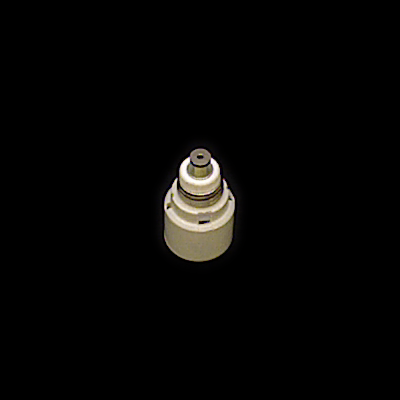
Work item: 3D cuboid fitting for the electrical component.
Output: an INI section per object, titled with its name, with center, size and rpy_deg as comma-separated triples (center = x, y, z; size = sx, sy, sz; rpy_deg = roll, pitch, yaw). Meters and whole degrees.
[electrical component]
center = 0.000, 0.000, 0.620
size = 0.040, 0.040, 0.079
rpy_deg = 0, -38, -2
